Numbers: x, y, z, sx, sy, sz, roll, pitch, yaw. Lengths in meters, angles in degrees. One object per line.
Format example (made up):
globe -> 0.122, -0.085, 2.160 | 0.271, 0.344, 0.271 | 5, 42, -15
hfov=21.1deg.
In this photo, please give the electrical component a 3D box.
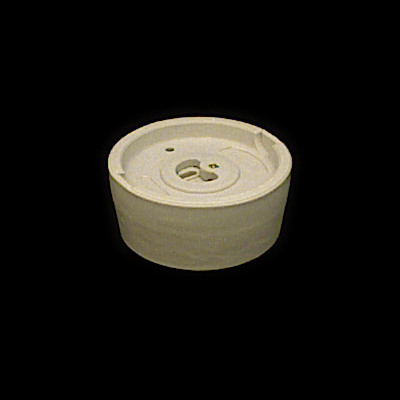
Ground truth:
electrical component -> 0.000, 0.000, 0.645 | 0.108, 0.061, 0.106 | 1, 32, 0
